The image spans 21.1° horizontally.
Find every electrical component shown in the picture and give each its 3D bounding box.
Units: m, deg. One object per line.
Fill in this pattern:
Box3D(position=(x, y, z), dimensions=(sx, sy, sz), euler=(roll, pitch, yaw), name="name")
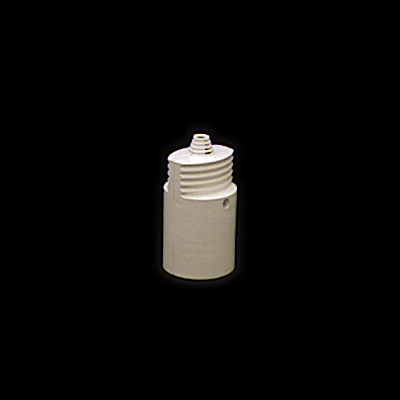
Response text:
Box3D(position=(0.000, 0.000, 0.634), dimensions=(0.043, 0.082, 0.042), euler=(1, 21, 0), name="electrical component")
